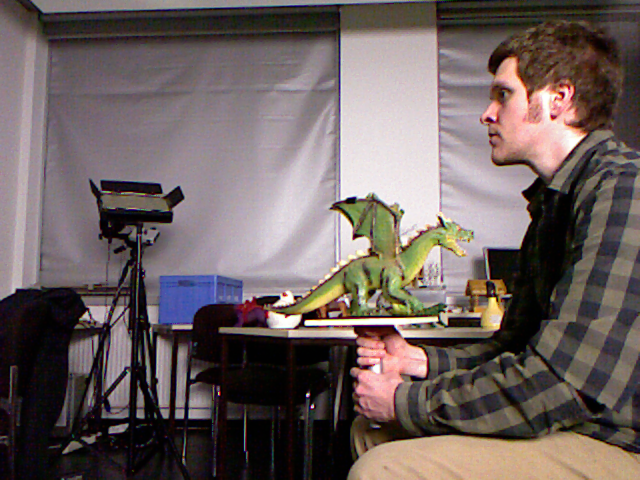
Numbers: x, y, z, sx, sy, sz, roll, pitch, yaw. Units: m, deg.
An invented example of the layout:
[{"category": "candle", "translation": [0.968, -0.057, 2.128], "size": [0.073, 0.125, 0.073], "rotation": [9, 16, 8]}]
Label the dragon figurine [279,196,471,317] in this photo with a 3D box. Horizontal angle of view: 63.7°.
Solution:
[{"category": "dragon figurine", "translation": [0.090, 0.034, 1.026], "size": [0.409, 0.244, 0.122], "rotation": [-5, -4, 21]}]
